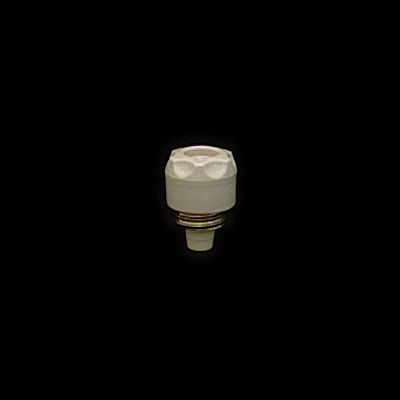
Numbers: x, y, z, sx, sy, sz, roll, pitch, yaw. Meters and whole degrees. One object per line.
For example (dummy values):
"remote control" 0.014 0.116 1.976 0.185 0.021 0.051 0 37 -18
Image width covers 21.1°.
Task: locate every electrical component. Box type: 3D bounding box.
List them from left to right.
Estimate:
"electrical component" 0.000 0.000 0.647 0.043 0.063 0.043 1 21 0
